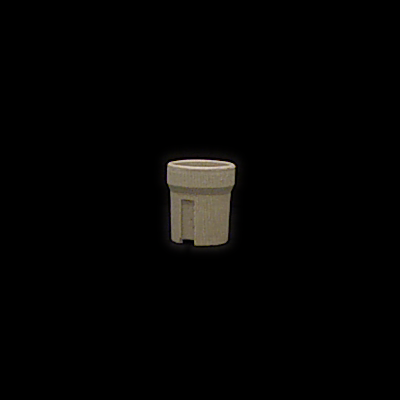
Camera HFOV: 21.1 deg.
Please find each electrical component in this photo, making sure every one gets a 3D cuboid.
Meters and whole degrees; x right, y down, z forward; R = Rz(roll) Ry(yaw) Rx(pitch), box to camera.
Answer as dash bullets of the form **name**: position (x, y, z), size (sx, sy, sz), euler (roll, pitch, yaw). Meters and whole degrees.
- **electrical component**: position (0.000, 0.000, 0.646), size (0.040, 0.046, 0.040), euler (1, 11, 0)
